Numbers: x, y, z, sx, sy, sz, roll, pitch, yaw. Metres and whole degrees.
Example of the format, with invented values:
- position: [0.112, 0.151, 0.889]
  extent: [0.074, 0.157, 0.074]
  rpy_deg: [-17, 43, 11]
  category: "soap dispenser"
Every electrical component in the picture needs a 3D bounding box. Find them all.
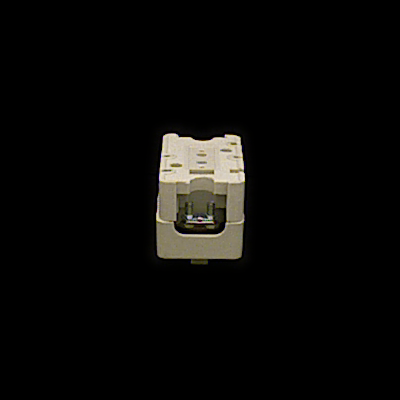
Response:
- position: [0.000, 0.000, 0.647]
  extent: [0.050, 0.056, 0.088]
  rpy_deg: [1, 22, -1]
  category: "electrical component"
